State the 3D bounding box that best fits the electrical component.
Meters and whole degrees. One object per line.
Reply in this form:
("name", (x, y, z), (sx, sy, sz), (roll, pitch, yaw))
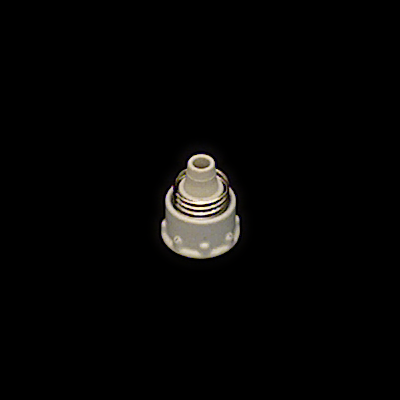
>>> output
("electrical component", (0.000, 0.000, 0.637), (0.048, 0.062, 0.047), (1, 44, 0))
